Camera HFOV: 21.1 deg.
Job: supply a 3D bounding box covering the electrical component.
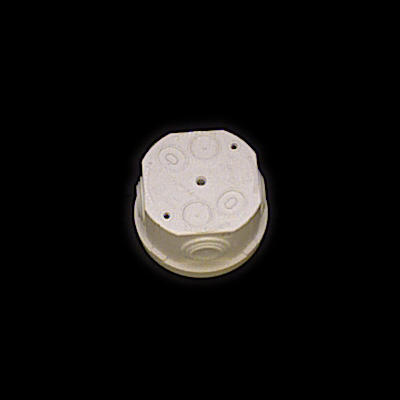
[{"bbox_3d":[0.000,0.000,0.632,0.080,0.080,0.050,0,-28,0],"label":"electrical component"}]
